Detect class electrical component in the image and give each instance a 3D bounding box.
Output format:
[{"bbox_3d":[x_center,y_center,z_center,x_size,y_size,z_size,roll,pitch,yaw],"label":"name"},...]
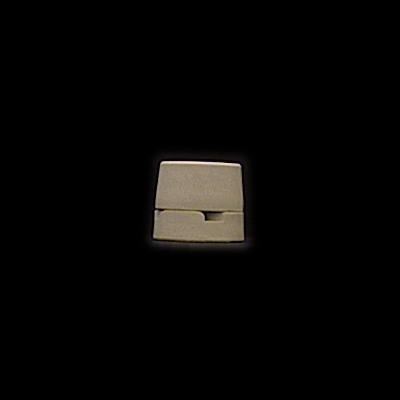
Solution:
[{"bbox_3d":[0.000,0.000,0.649,0.055,0.047,0.055,2,2,0],"label":"electrical component"}]
